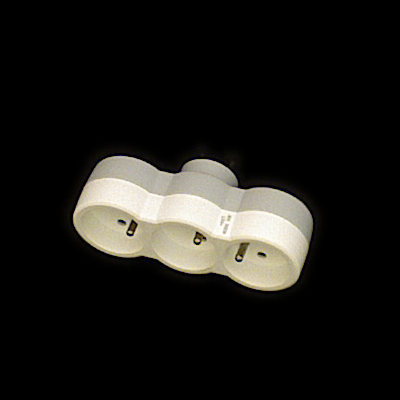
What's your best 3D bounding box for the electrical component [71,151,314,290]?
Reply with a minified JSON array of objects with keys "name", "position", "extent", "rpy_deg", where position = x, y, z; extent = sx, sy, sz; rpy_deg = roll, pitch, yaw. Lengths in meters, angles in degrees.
[{"name":"electrical component","position":[0.000,0.000,0.640],"extent":[0.138,0.073,0.052],"rpy_deg":[13,-38,9]}]
